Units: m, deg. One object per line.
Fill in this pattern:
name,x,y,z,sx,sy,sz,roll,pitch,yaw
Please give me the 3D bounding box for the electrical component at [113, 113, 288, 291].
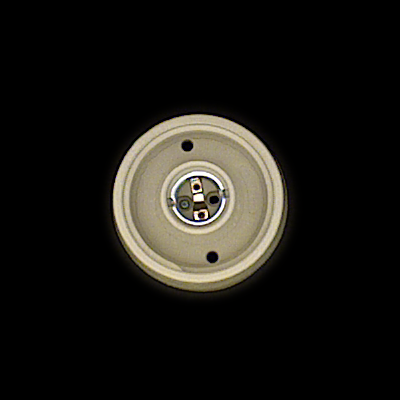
electrical component,0.000,0.000,0.634,0.108,0.108,0.060,0,-6,0
